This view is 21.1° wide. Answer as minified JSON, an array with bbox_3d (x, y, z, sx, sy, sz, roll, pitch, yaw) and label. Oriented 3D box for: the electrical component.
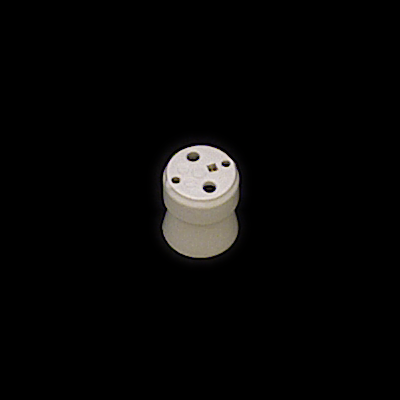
[{"bbox_3d":[0.000,0.000,0.629,0.045,0.044,0.055,0,-37,0],"label":"electrical component"}]
